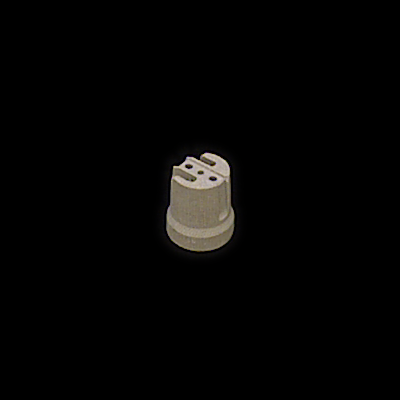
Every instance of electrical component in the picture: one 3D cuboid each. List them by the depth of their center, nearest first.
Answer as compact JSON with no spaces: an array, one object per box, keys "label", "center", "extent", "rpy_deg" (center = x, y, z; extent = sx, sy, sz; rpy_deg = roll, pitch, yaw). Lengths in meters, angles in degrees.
[{"label":"electrical component","center":[0.000,0.000,0.637],"extent":[0.040,0.046,0.040],"rpy_deg":[1,42,-1]}]
